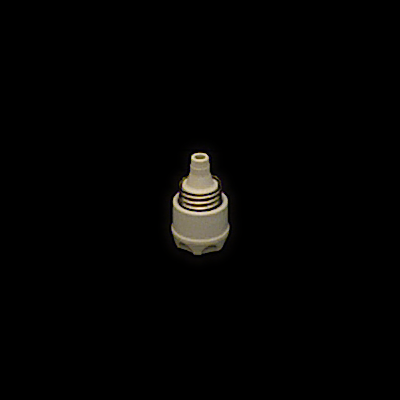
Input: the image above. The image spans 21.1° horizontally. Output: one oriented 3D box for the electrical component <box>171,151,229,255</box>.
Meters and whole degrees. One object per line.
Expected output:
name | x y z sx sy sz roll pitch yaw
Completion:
electrical component | 0.000 0.000 0.645 0.035 0.062 0.034 0 31 0
